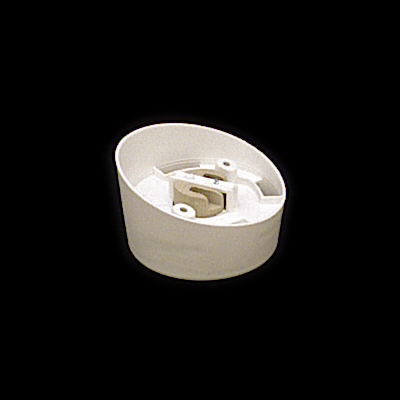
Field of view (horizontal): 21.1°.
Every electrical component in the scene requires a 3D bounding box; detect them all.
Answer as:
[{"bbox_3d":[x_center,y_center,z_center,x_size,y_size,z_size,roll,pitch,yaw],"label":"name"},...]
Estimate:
[{"bbox_3d":[0.000,0.000,0.632,0.099,0.065,0.097,0,31,0],"label":"electrical component"}]
